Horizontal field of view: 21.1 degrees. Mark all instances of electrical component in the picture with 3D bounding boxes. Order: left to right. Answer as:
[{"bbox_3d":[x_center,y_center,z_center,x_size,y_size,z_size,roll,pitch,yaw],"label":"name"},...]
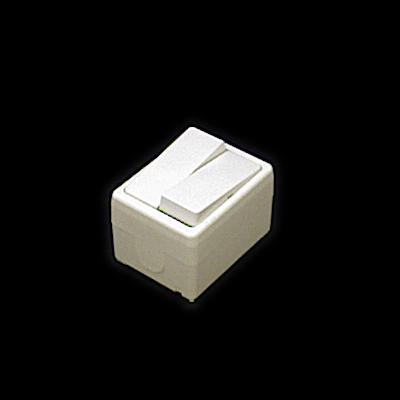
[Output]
[{"bbox_3d":[0.000,0.000,0.632,0.061,0.061,0.096,28,48,27],"label":"electrical component"}]
